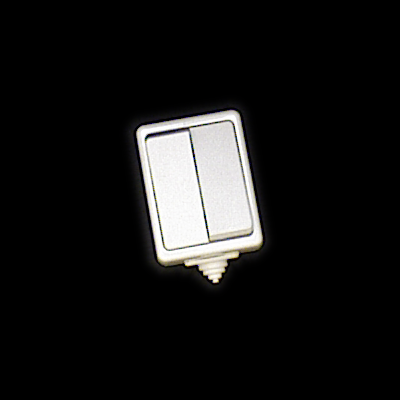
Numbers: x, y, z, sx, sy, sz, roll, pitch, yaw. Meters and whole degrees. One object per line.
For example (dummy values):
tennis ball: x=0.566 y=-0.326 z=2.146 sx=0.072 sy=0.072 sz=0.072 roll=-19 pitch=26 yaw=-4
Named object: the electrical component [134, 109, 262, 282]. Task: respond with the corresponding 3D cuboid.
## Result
electrical component: x=0.000 y=0.000 z=0.626 sx=0.062 sy=0.096 sz=0.061 roll=-10 pitch=-7 yaw=-1
